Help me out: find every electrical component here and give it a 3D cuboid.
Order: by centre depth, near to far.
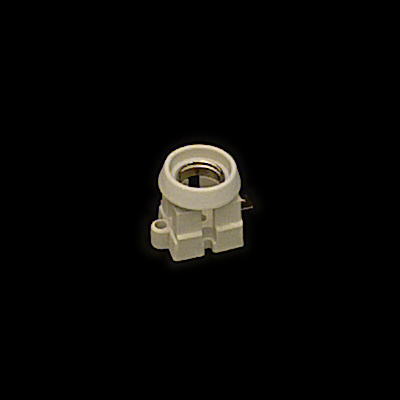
[{"bbox_3d":[0.000,0.000,0.641,0.067,0.056,0.048,-13,46,-14],"label":"electrical component"}]
